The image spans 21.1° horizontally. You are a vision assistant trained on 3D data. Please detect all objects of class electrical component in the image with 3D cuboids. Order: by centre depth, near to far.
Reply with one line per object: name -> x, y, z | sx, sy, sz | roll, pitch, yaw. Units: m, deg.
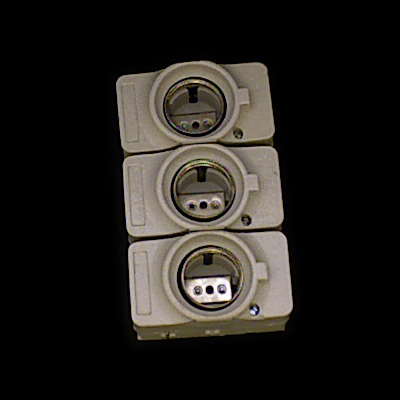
electrical component -> 0.000, 0.000, 0.631 | 0.089, 0.150, 0.062 | -5, -16, -2
